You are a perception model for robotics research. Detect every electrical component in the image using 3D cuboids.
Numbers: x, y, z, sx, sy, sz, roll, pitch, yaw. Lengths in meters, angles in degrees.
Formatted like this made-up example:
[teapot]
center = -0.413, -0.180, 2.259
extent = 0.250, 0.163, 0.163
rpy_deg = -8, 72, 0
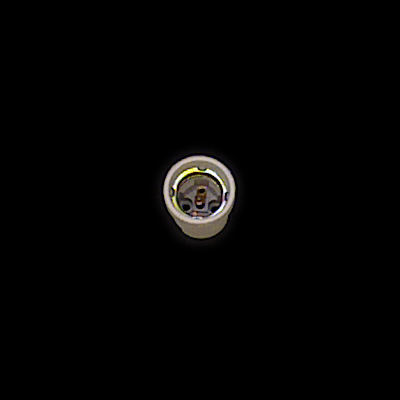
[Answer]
[electrical component]
center = 0.000, 0.000, 0.627
extent = 0.040, 0.040, 0.046
rpy_deg = 0, -17, 0
